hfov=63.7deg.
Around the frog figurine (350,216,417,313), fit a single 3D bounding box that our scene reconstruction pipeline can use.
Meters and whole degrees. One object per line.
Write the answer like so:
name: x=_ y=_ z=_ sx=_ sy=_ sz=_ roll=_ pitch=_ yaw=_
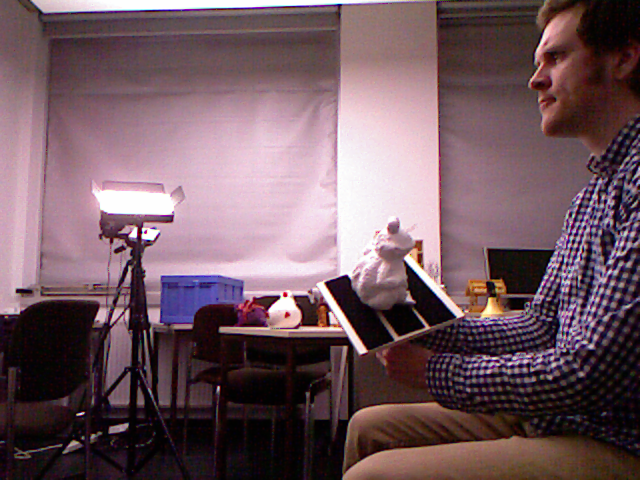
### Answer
frog figurine: x=0.113 y=0.044 z=0.913 sx=0.123 sy=0.156 sz=0.141 roll=-8 pitch=39 yaw=-1
